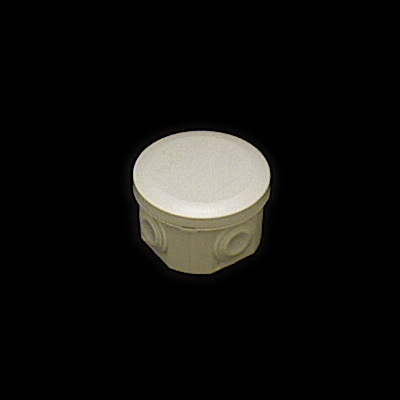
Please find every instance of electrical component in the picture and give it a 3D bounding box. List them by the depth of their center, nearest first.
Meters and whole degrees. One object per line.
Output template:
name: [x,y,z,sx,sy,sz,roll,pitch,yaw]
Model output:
electrical component: [0.000,0.000,0.635,0.080,0.051,0.079,1,42,0]
